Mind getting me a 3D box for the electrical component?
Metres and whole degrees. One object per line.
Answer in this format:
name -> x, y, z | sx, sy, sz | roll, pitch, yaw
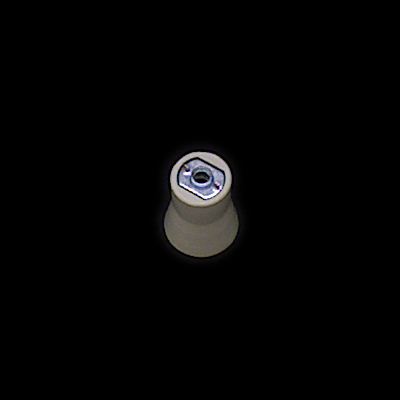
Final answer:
electrical component -> 0.000, 0.000, 0.624 | 0.044, 0.044, 0.065 | 0, -26, 1
